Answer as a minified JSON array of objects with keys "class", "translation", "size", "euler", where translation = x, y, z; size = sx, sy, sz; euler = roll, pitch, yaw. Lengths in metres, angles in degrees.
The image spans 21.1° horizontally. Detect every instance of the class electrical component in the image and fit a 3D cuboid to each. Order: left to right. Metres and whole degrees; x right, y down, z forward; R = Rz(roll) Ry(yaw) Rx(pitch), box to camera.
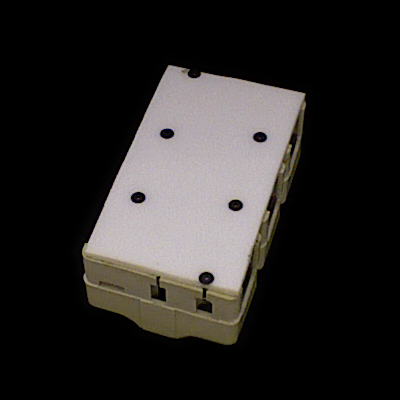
[{"class":"electrical component","translation":[0.000,0.000,0.631],"size":[0.089,0.148,0.062],"euler":[14,-36,10]}]
